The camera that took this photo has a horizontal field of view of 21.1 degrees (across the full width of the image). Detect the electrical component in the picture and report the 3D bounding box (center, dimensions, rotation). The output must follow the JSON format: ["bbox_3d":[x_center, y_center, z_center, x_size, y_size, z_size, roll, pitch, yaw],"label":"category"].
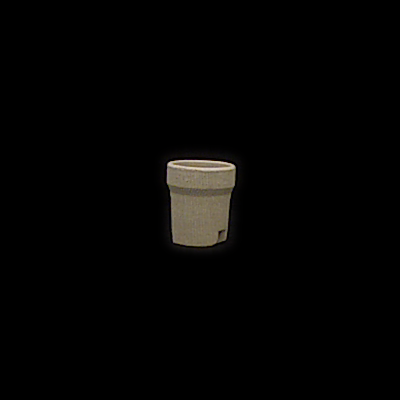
[{"bbox_3d":[0.000,0.000,0.644,0.040,0.046,0.040,1,11,0],"label":"electrical component"}]
